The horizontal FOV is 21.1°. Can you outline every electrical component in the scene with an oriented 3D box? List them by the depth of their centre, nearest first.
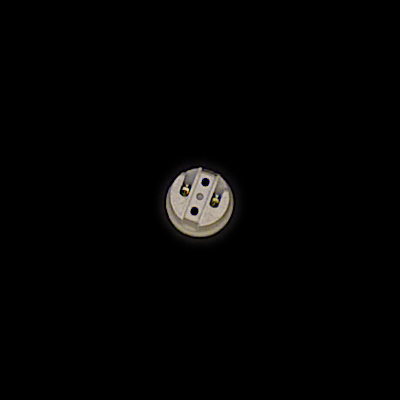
[{"bbox_3d":[0.000,0.000,0.635,0.040,0.040,0.046,0,-6,0],"label":"electrical component"}]
